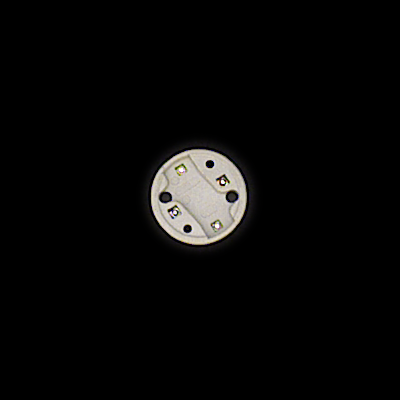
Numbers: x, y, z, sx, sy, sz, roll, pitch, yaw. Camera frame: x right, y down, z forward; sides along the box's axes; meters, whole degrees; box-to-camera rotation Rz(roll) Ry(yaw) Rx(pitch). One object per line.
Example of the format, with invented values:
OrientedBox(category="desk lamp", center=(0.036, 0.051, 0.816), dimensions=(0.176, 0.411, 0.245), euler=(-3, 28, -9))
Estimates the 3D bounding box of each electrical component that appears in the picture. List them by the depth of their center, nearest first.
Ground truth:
OrientedBox(category="electrical component", center=(0.000, 0.000, 0.636), dimensions=(0.055, 0.055, 0.047), euler=(0, -6, 0))
